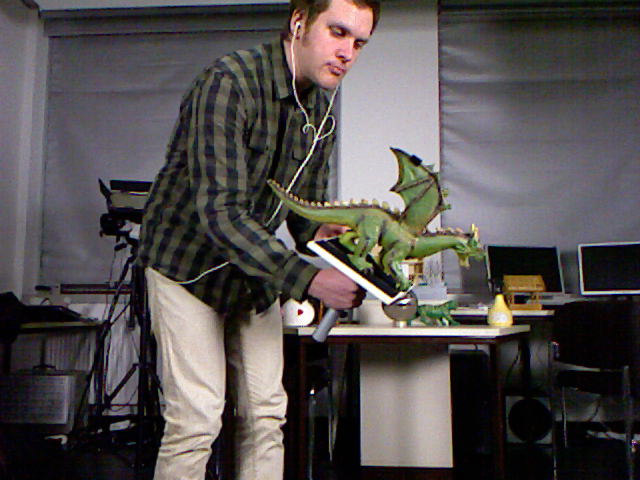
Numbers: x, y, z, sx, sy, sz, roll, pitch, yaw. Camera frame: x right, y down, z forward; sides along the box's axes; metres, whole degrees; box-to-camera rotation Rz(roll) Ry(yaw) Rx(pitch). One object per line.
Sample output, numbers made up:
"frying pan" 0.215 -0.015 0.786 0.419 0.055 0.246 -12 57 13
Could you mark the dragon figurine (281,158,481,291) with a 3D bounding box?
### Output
"dragon figurine" 0.142 -0.056 1.048 0.411 0.240 0.124 33 17 -1
